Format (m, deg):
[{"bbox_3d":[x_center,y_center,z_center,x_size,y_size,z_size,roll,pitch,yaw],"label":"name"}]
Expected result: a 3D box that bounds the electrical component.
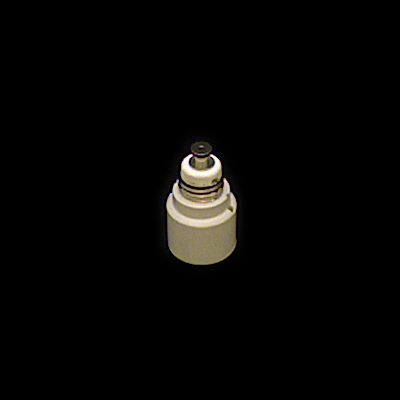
[{"bbox_3d":[0.000,0.000,0.624,0.040,0.079,0.039,0,42,1],"label":"electrical component"}]
